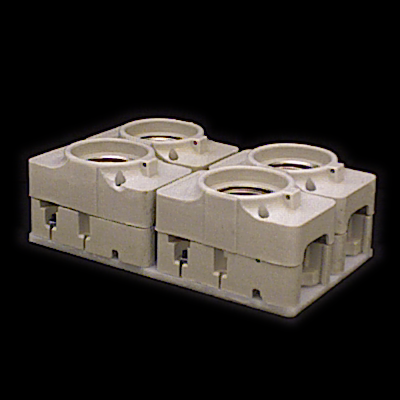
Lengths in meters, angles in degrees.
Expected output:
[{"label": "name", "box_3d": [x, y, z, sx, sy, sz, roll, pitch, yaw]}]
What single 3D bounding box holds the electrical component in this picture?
[{"label": "electrical component", "box_3d": [0.000, 0.000, 0.639, 0.185, 0.061, 0.105, 14, 24, 30]}]
